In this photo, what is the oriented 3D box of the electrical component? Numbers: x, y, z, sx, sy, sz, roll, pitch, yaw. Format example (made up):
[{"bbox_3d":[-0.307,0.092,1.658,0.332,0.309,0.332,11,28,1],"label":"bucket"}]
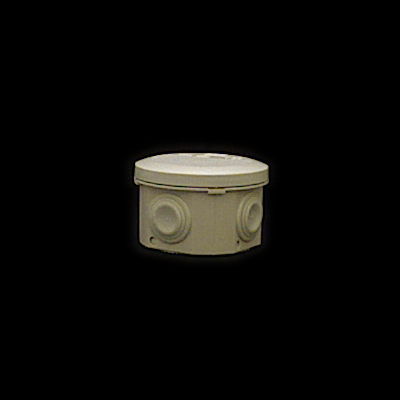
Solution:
[{"bbox_3d":[0.000,0.000,0.645,0.080,0.051,0.079,1,11,0],"label":"electrical component"}]
